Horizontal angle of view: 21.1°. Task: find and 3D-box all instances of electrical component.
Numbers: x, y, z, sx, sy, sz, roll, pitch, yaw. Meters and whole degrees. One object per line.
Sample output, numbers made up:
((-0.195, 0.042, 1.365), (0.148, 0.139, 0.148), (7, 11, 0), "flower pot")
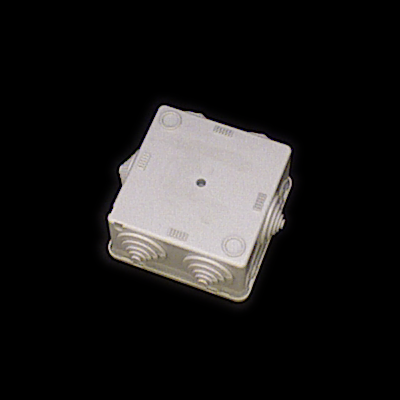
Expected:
((0.000, 0.000, 0.631), (0.099, 0.100, 0.048), (19, -25, 9), "electrical component")
